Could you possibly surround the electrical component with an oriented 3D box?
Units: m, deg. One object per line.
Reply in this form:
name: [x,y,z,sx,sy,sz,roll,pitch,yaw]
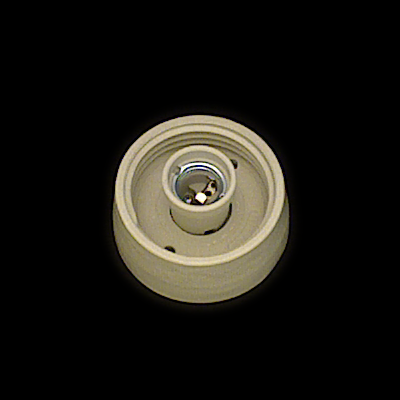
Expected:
electrical component: [0.000,0.000,0.633,0.108,0.108,0.060,0,-26,0]
